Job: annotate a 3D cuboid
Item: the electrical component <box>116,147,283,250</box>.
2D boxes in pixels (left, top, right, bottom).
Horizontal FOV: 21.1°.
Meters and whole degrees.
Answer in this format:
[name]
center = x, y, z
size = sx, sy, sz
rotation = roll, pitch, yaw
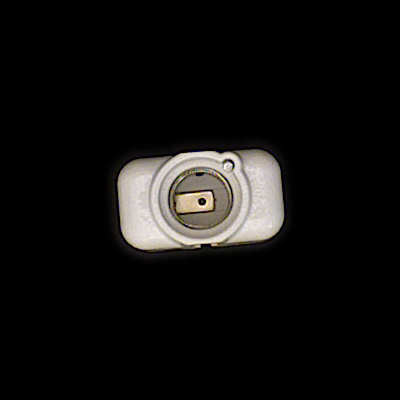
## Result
[electrical component]
center = 0.000, 0.000, 0.635
size = 0.095, 0.054, 0.059
rotation = -5, -5, 0
